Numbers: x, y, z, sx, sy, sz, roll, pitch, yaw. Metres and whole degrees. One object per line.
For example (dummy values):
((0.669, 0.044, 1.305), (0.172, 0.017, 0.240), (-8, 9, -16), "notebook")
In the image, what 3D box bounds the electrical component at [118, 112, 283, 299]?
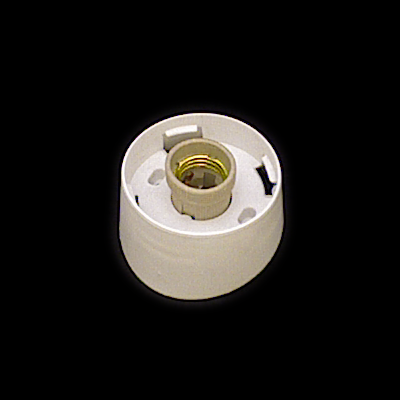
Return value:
((0.000, 0.000, 0.627), (0.099, 0.098, 0.064), (0, -37, 0), "electrical component")
